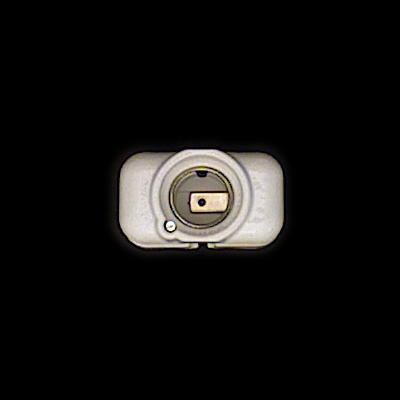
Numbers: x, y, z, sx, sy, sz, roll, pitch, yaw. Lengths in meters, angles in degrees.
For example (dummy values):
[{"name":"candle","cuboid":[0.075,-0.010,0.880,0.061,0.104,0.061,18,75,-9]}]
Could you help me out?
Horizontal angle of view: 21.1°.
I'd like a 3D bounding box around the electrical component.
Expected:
[{"name":"electrical component","cuboid":[0.000,0.000,0.635,0.095,0.054,0.059,-1,-6,1]}]
